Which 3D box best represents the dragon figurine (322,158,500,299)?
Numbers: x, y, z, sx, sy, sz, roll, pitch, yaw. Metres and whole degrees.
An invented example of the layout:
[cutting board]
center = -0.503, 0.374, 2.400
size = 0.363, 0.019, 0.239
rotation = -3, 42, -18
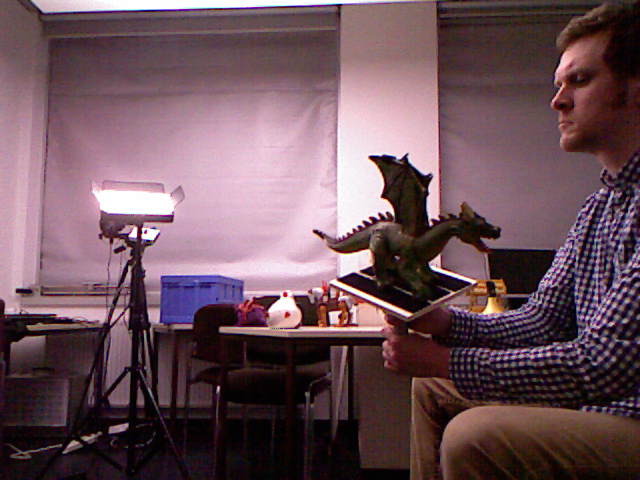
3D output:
[dragon figurine]
center = 0.138, -0.037, 0.970
size = 0.123, 0.239, 0.414
rotation = -18, 28, -41
